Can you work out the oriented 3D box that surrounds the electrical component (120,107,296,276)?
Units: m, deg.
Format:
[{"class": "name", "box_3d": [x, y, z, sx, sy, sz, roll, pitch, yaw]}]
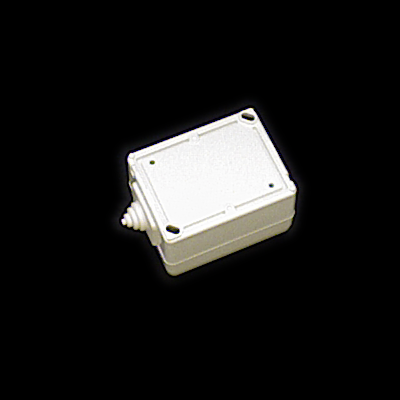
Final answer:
[{"class": "electrical component", "box_3d": [0.000, 0.000, 0.624, 0.096, 0.062, 0.060, -21, -25, -11]}]
